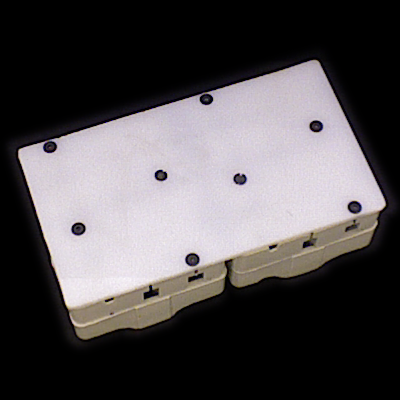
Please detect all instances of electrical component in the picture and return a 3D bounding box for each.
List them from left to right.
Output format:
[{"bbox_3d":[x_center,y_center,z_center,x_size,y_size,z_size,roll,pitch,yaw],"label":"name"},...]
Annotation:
[{"bbox_3d":[0.000,0.000,0.626,0.186,0.105,0.060,-17,-26,-9],"label":"electrical component"}]
